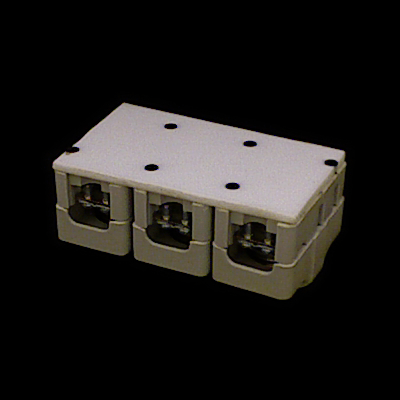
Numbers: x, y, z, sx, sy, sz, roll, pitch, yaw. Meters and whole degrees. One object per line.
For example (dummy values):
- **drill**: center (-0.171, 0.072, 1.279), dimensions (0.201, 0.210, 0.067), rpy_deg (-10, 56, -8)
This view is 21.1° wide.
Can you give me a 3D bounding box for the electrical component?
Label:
- **electrical component**: center (0.000, 0.000, 0.641), dimensions (0.149, 0.063, 0.088), rpy_deg (14, 34, 20)
